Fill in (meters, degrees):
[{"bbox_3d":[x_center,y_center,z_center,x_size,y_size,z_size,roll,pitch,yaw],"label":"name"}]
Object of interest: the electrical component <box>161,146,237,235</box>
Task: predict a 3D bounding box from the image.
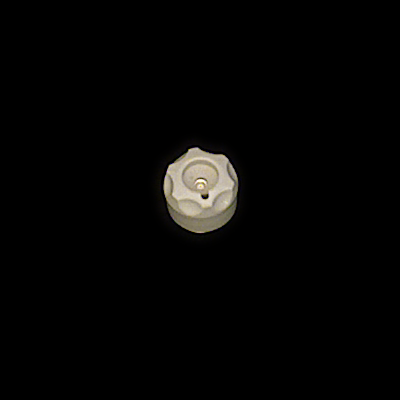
[{"bbox_3d":[0.000,0.000,0.634,0.043,0.043,0.062,0,-27,1],"label":"electrical component"}]
